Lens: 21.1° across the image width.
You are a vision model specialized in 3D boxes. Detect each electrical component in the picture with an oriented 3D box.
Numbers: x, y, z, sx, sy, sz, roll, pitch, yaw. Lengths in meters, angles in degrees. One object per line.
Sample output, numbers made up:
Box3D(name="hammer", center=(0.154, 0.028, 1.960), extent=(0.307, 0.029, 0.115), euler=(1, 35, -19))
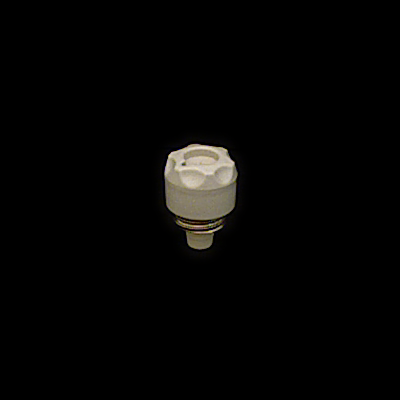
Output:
Box3D(name="electrical component", center=(0.000, 0.000, 0.642), extent=(0.043, 0.063, 0.043), euler=(1, 31, 0))
